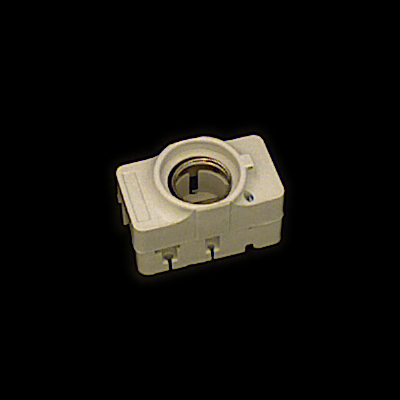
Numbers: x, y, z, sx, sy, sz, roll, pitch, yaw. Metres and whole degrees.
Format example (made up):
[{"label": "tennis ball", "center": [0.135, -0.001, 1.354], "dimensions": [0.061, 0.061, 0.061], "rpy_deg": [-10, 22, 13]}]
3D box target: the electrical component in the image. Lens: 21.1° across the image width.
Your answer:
[{"label": "electrical component", "center": [0.000, 0.000, 0.637], "dimensions": [0.090, 0.050, 0.056], "rpy_deg": [-14, -36, -11]}]
